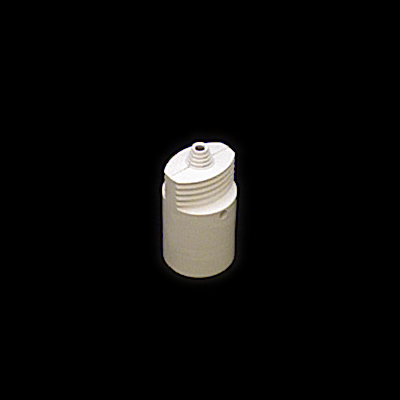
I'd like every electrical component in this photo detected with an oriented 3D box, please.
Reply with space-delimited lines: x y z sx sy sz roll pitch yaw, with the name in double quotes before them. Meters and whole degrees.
"electrical component" 0.000 0.000 0.623 0.043 0.082 0.042 0 42 0
